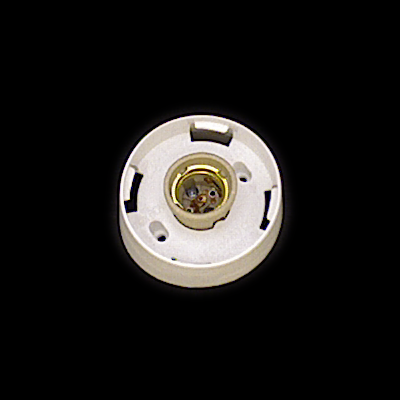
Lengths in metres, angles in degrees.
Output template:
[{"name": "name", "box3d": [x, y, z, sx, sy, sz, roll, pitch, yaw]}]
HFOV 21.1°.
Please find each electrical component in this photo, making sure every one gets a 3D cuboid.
[{"name": "electrical component", "box3d": [0.000, 0.000, 0.625, 0.099, 0.099, 0.064, 0, -17, 0]}]
